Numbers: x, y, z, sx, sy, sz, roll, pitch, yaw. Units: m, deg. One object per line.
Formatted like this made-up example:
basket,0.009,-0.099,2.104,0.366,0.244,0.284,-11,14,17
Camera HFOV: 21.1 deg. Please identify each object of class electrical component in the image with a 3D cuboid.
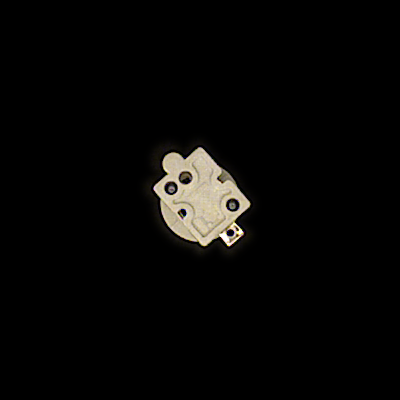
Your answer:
electrical component,0.000,0.000,0.639,0.048,0.066,0.055,-41,-4,-4
